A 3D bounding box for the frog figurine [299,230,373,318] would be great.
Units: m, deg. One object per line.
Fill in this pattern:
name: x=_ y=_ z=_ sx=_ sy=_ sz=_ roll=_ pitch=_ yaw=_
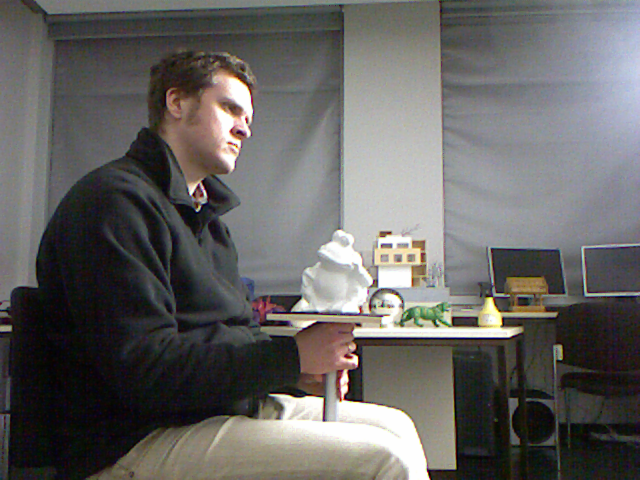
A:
frog figurine: x=0.028 y=0.061 z=0.957 sx=0.137 sy=0.160 sz=0.122 roll=1 pitch=-4 yaw=32
